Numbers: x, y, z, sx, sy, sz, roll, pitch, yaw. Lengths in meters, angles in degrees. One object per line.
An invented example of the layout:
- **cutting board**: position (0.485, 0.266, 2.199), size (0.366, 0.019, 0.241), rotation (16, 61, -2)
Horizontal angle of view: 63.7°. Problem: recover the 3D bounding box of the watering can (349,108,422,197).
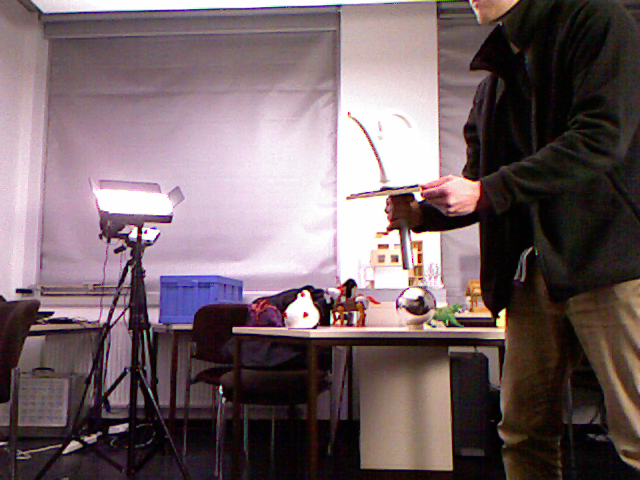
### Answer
- **watering can**: position (0.172, -0.216, 1.281), size (0.104, 0.224, 0.350), rotation (0, 7, 36)
